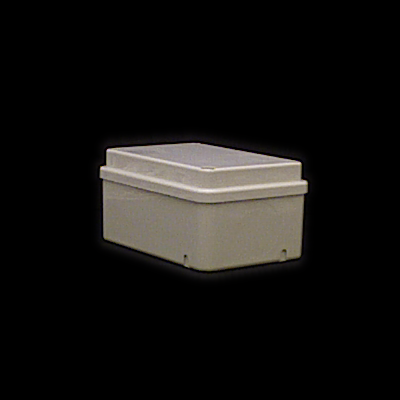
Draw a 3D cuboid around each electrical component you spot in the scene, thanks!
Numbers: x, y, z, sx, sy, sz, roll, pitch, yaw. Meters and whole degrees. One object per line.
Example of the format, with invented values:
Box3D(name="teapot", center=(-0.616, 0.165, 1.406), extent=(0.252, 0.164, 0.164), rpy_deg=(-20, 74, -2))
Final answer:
Box3D(name="electrical component", center=(0.000, 0.000, 0.642), extent=(0.078, 0.057, 0.112), rpy_deg=(-7, 13, -36))
